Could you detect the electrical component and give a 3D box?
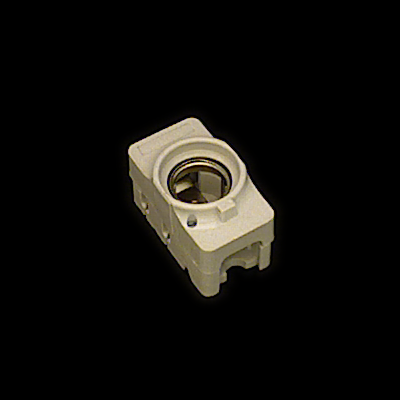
[{"bbox_3d":[0.000,0.000,0.637,0.050,0.089,0.056,-27,-32,-19],"label":"electrical component"}]
